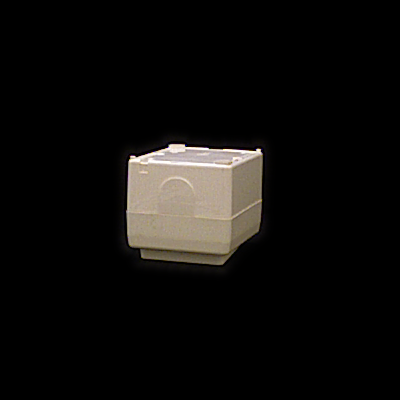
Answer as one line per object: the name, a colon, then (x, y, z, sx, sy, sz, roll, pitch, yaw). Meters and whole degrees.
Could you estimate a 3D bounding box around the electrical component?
electrical component: (0.000, 0.000, 0.645, 0.061, 0.061, 0.095, 4, 10, 16)
